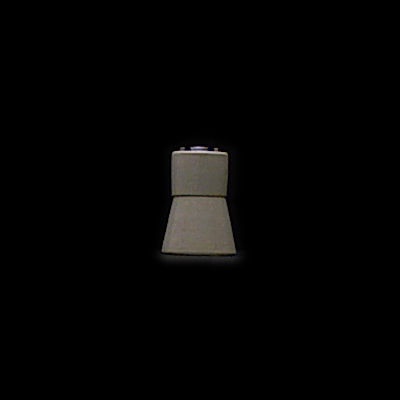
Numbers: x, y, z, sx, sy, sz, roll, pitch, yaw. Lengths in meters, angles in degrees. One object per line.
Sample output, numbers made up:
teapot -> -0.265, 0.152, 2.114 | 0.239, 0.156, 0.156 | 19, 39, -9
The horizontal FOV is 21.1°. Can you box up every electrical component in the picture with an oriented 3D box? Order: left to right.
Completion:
electrical component -> 0.001, 0.000, 0.651 | 0.044, 0.065, 0.044 | 1, 0, 0
